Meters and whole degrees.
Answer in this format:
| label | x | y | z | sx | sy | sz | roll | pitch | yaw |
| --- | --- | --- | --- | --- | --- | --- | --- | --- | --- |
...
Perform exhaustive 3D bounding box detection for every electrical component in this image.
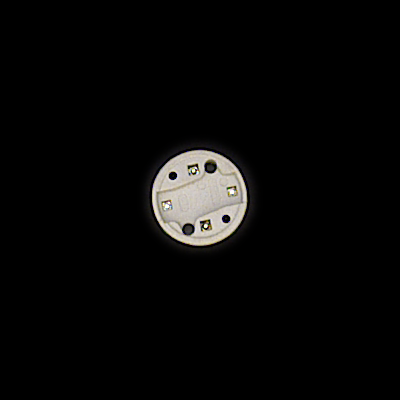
| label | x | y | z | sx | sy | sz | roll | pitch | yaw |
| --- | --- | --- | --- | --- | --- | --- | --- | --- | --- |
| electrical component | 0.000 | 0.000 | 0.636 | 0.055 | 0.055 | 0.047 | 0 | -6 | 0 |
